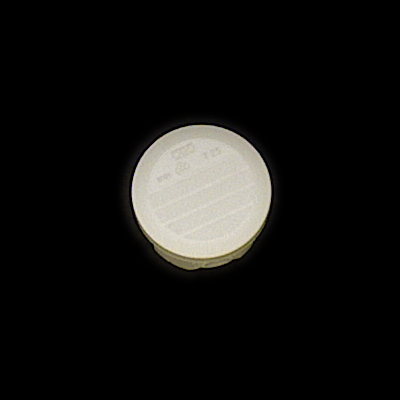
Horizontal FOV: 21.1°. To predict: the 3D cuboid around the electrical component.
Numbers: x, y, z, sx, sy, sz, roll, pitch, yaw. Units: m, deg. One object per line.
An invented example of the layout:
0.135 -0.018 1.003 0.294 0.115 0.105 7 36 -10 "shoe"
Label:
0.000 0.000 0.630 0.080 0.080 0.050 0 -17 0 "electrical component"
